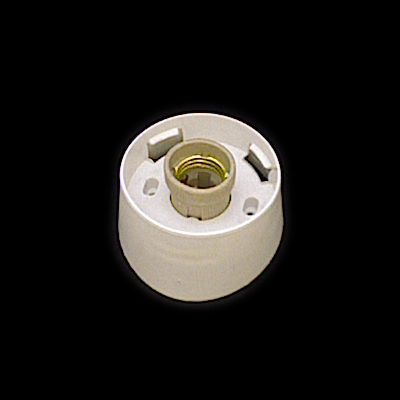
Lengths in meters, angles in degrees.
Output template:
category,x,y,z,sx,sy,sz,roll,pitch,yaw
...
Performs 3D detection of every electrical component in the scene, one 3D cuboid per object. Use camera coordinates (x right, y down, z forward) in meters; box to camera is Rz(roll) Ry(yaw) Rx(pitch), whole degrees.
category,x,y,z,sx,sy,sz,roll,pitch,yaw
electrical component,0.000,0.000,0.627,0.099,0.098,0.064,0,-37,-1
